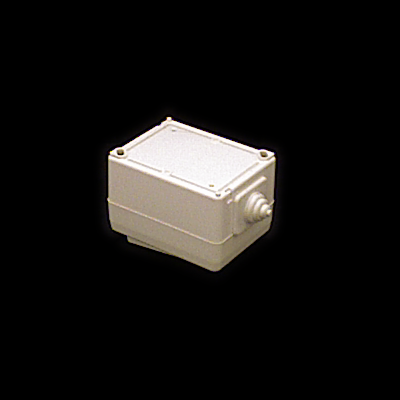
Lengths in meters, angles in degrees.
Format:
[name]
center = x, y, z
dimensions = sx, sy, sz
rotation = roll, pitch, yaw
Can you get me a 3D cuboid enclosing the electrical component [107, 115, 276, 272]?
[electrical component]
center = 0.000, 0.000, 0.632
dimensions = 0.095, 0.061, 0.061
rotation = 21, 37, 28
